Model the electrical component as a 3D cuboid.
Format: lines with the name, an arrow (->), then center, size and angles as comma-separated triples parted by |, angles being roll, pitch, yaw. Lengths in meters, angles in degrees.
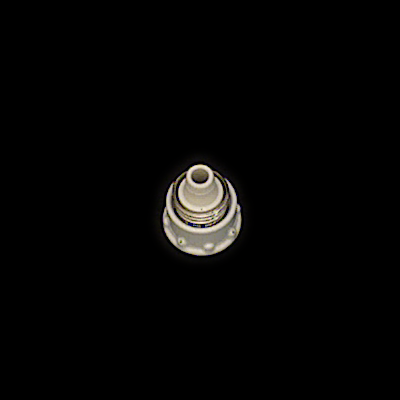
electrical component -> 0.000, 0.000, 0.634 | 0.048, 0.048, 0.062 | 0, -28, 1
